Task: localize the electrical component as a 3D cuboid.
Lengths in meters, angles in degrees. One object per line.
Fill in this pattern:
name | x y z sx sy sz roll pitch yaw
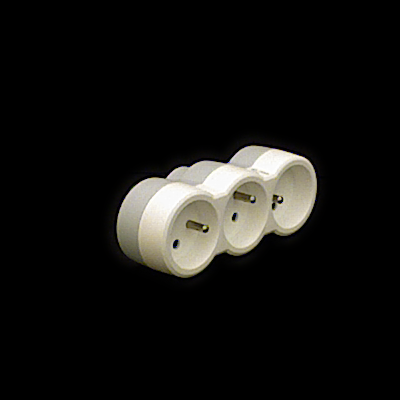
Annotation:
electrical component | 0.000 0.000 0.650 0.072 0.053 0.139 18 27 40
